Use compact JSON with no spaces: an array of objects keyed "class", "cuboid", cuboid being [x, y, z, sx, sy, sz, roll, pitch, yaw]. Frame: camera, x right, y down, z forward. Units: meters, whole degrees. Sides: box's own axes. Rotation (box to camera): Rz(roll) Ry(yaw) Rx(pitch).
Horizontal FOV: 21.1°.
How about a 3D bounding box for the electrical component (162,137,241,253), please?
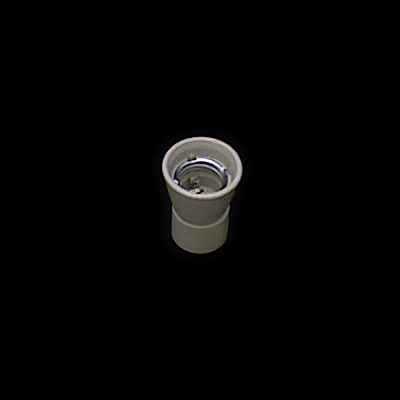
[{"class":"electrical component","cuboid":[0.000,0.000,0.627,0.044,0.044,0.065,0,-38,-1]}]
